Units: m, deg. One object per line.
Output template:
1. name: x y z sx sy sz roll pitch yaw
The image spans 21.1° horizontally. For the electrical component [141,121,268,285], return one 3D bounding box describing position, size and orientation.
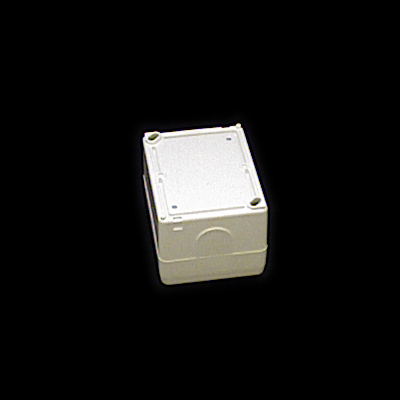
1. electrical component: 0.000 0.000 0.636 0.062 0.061 0.095 -6 42 -7
